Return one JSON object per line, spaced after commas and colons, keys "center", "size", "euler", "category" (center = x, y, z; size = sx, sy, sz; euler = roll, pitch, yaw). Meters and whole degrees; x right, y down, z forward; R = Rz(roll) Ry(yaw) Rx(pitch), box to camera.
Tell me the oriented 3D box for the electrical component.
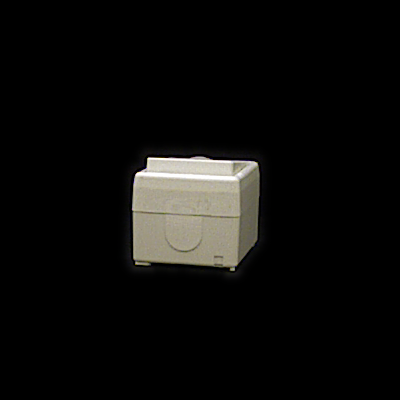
{"center": [0.000, 0.000, 0.646], "size": [0.061, 0.061, 0.095], "euler": [3, 10, 11], "category": "electrical component"}
